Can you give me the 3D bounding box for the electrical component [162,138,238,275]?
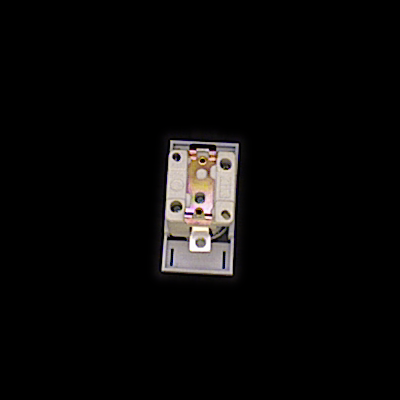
[{"bbox_3d":[0.000,0.000,0.625,0.042,0.081,0.063,2,-17,1],"label":"electrical component"}]
